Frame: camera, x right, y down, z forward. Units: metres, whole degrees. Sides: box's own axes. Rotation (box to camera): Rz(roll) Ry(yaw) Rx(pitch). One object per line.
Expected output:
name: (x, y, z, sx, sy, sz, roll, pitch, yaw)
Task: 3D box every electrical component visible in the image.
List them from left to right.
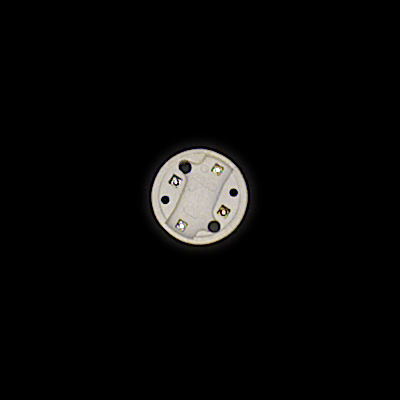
electrical component: (0.000, 0.000, 0.636, 0.055, 0.055, 0.047, 0, -6, 0)
